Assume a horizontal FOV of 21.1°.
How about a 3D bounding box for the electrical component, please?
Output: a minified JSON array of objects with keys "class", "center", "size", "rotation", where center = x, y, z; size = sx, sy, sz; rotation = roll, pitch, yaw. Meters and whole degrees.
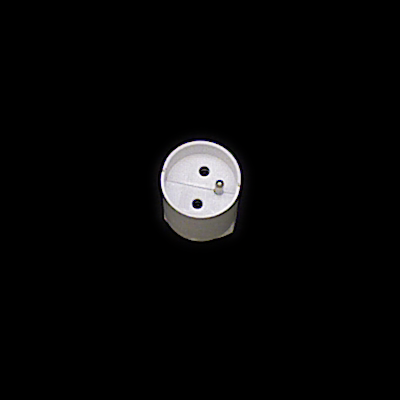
[{"class":"electrical component","center":[0.000,0.000,0.616],"size":[0.043,0.043,0.080],"rotation":[0,-16,-1]}]
